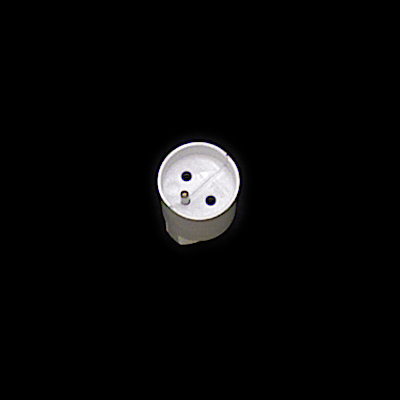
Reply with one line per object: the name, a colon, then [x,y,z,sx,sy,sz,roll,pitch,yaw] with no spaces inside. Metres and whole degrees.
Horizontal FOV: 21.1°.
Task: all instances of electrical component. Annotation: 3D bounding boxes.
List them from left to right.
electrical component: [0.000,0.000,0.614,0.043,0.043,0.080,0,-17,1]
